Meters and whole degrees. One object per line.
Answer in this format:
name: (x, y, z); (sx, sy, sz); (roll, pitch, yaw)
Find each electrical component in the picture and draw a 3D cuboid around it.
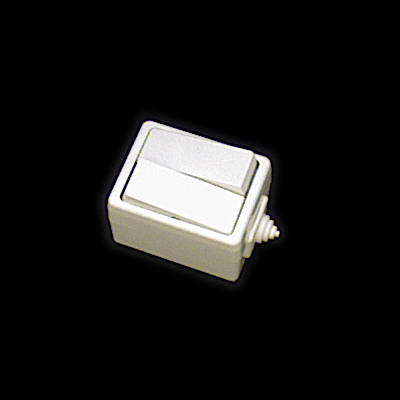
electrical component: (0.000, 0.000, 0.626); (0.096, 0.062, 0.061); (18, -26, 9)
